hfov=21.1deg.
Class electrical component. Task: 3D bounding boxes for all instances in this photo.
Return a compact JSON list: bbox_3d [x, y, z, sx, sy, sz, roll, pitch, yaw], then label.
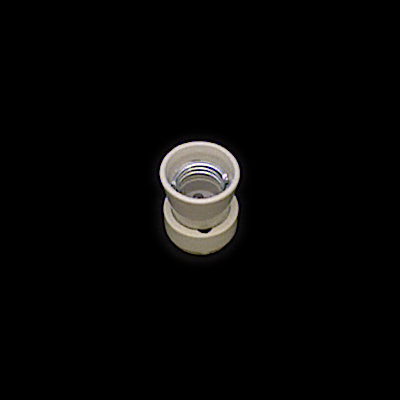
[{"bbox_3d":[0.000,0.000,0.628,0.045,0.044,0.055,0,-38,0],"label":"electrical component"}]
